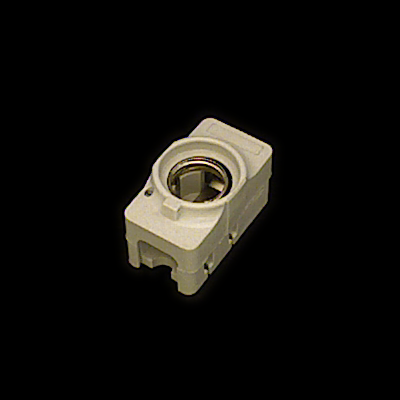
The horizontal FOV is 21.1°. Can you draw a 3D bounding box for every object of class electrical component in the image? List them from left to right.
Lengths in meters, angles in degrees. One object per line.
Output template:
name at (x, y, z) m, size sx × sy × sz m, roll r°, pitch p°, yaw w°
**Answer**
electrical component at (0.000, 0.000, 0.637) m, size 0.050 × 0.090 × 0.056 m, roll 27°, pitch -33°, yaw 19°
